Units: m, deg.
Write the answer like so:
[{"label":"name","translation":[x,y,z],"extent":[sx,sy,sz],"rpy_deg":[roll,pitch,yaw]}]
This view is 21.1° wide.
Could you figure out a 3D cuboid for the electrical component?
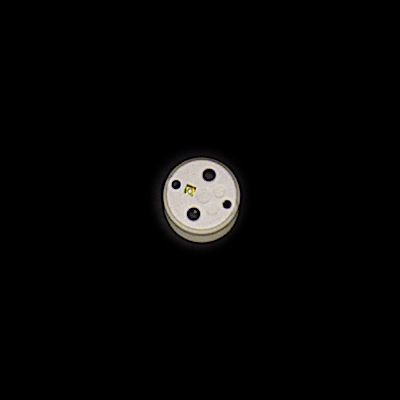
[{"label":"electrical component","translation":[0.000,0.000,0.629],"extent":[0.045,0.045,0.055],"rpy_deg":[0,-6,0]}]
